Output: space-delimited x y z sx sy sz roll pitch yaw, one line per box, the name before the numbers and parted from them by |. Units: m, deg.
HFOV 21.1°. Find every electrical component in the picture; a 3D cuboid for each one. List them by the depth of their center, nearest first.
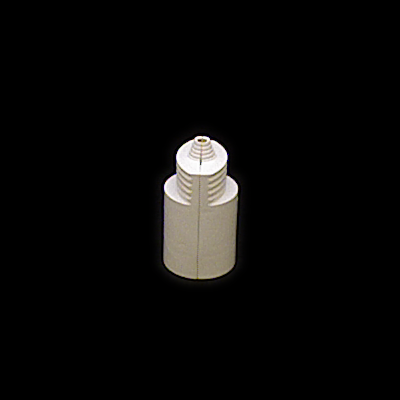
electrical component | 0.000 0.000 0.628 0.043 0.082 0.042 1 31 0
